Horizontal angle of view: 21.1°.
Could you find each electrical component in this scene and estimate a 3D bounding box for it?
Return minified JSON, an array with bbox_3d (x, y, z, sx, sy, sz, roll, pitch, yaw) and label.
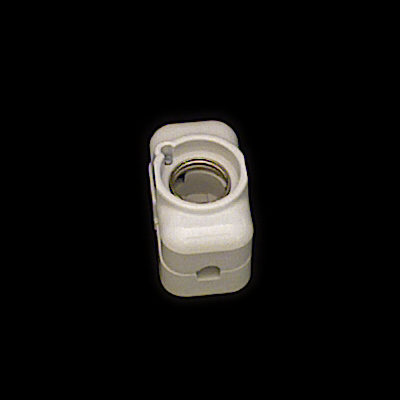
[{"bbox_3d":[0.000,0.000,0.635,0.054,0.094,0.059,-6,-37,-5],"label":"electrical component"}]
